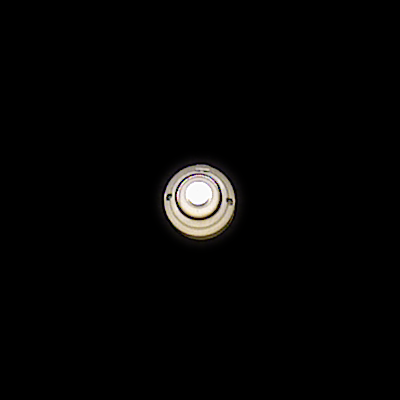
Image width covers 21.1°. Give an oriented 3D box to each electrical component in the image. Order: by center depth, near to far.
[{"bbox_3d":[0.000,0.000,0.618,0.040,0.040,0.078,0,-6,1],"label":"electrical component"}]
